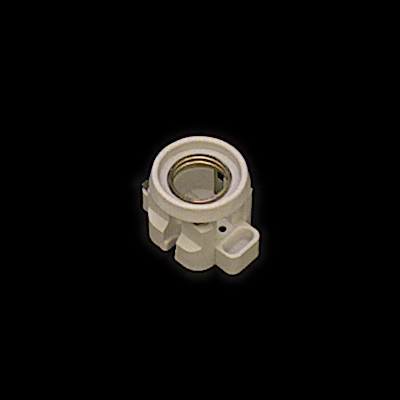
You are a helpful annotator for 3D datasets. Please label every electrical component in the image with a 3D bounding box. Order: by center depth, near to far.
[{"bbox_3d":[0.000,0.000,0.630,0.078,0.057,0.058,36,61,24],"label":"electrical component"}]
